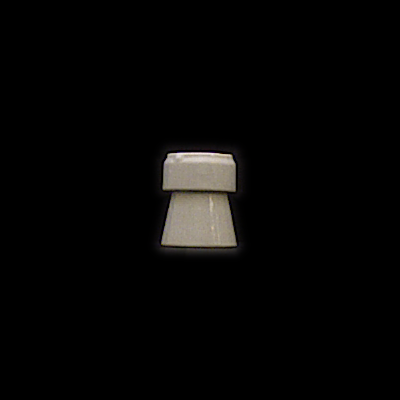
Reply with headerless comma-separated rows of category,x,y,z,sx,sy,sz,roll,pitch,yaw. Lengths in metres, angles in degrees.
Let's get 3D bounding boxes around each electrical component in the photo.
electrical component,0.000,0.000,0.650,0.045,0.055,0.045,1,1,0
